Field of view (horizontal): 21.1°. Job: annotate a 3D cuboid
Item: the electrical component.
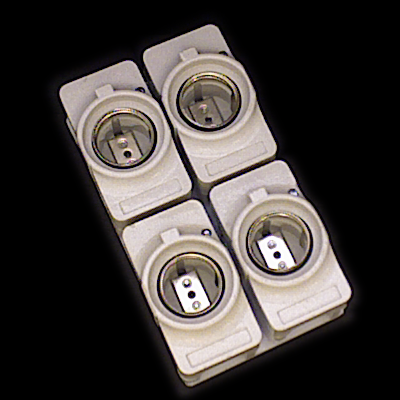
[{"bbox_3d":[0.000,0.000,0.625,0.106,0.187,0.060,-24,-16,-7],"label":"electrical component"}]
